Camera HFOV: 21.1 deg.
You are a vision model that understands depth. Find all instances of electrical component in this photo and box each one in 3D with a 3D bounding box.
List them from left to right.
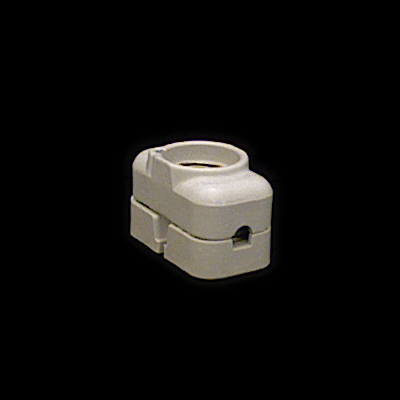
[{"bbox_3d":[0.000,0.000,0.645,0.054,0.060,0.093,-12,25,-31],"label":"electrical component"}]
